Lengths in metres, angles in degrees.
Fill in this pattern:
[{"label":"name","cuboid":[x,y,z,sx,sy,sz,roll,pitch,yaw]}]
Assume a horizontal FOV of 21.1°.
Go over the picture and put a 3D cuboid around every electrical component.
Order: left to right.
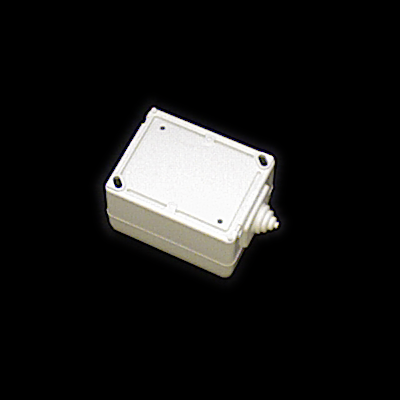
[{"label":"electrical component","cuboid":[0.000,0.000,0.626,0.096,0.062,0.061,23,-26,12]}]
